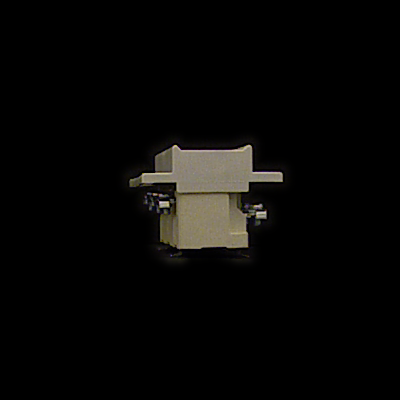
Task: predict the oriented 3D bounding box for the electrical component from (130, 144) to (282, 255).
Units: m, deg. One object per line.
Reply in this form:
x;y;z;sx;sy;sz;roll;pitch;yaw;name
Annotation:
0.000;0.000;0.660;0.079;0.063;0.121;-1;1;-7;electrical component
